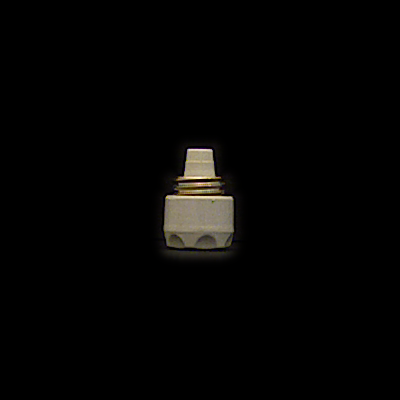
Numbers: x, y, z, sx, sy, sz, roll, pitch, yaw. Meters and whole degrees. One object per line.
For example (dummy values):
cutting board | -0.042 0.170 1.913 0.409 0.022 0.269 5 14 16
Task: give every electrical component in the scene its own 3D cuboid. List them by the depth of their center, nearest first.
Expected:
electrical component | 0.000 0.000 0.655 0.043 0.062 0.043 1 3 0
